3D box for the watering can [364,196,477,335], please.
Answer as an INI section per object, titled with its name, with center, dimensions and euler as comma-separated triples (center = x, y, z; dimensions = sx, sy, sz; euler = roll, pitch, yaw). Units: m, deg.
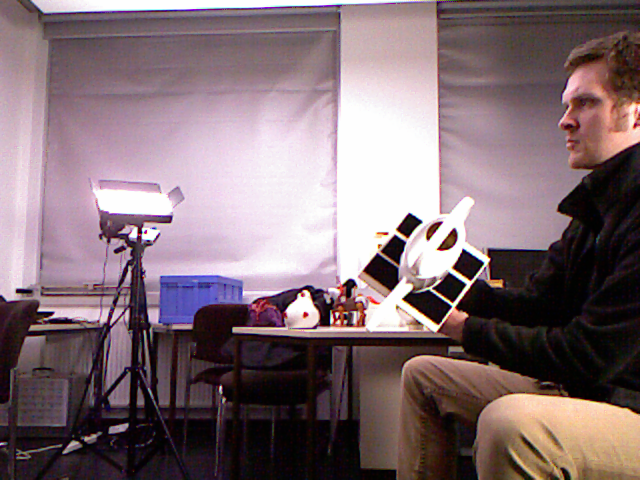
[watering can]
center = 0.197, 0.057, 1.031
dimensions = 0.105, 0.351, 0.221
euler = 38, -12, 15
